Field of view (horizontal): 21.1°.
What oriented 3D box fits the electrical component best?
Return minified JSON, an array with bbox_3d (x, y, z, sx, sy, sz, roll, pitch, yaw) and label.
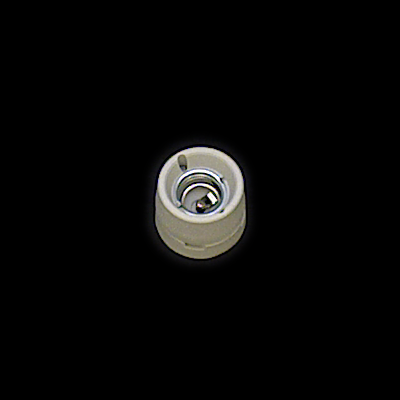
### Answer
[{"bbox_3d":[0.000,0.000,0.632,0.055,0.056,0.047,0,-26,0],"label":"electrical component"}]
